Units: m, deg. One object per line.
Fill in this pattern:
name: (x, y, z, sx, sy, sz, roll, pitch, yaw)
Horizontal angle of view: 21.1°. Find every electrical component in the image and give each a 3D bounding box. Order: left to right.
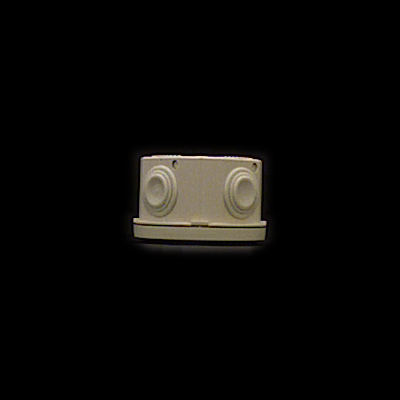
electrical component: (0.000, 0.000, 0.649, 0.080, 0.051, 0.080, 1, 1, 0)
